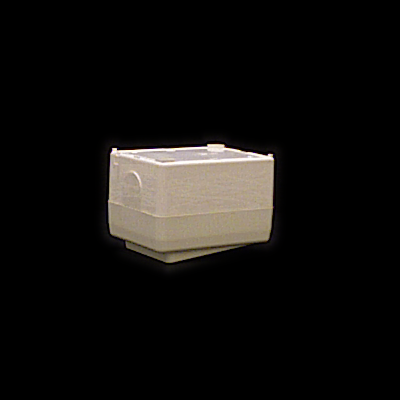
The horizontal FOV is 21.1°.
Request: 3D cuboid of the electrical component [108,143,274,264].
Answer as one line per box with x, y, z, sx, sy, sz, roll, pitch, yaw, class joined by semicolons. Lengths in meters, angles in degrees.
0.000;0.000;0.643;0.096;0.061;0.061;-5;12;-34;electrical component
